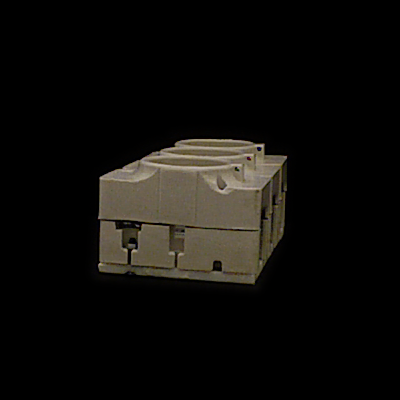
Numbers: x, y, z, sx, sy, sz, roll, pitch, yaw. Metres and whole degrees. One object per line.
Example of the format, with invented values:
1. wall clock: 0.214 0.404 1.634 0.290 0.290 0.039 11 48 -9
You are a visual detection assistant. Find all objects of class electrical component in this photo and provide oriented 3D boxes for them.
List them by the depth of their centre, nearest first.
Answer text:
1. electrical component: 0.000 0.000 0.651 0.089 0.062 0.148 3 10 9
